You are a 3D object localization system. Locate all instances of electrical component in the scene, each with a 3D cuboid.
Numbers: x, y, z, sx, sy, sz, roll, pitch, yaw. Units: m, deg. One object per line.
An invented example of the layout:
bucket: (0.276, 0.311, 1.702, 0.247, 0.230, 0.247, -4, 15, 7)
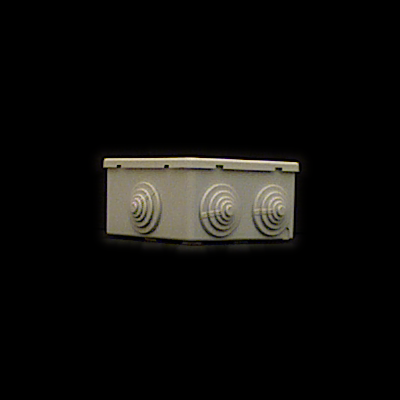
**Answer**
electrical component: (0.000, 0.000, 0.655, 0.101, 0.048, 0.098, 0, 1, -40)
